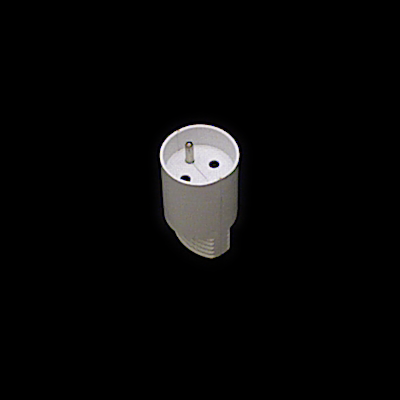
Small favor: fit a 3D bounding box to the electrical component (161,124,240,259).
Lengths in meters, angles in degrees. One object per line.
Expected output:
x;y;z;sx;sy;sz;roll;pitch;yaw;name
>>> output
0.000;0.000;0.619;0.043;0.043;0.081;0;-39;0;electrical component
